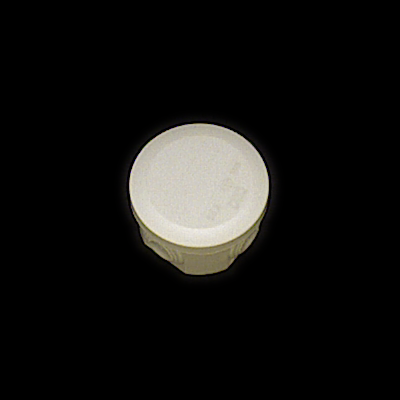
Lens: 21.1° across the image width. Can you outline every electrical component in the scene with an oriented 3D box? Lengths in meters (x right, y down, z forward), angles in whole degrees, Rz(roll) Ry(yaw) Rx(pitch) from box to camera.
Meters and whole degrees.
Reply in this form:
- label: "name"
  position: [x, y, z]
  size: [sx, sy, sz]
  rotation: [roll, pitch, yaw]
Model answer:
- label: "electrical component"
  position: [0.000, 0.000, 0.629]
  size: [0.080, 0.080, 0.050]
  rotation: [0, -27, 0]
